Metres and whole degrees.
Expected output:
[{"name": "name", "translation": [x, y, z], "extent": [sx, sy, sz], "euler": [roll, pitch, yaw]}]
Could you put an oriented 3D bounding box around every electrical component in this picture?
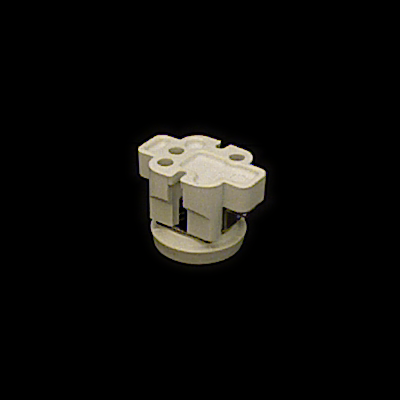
[{"name": "electrical component", "translation": [0.000, 0.000, 0.643], "extent": [0.078, 0.057, 0.058], "euler": [21, 37, 26]}]
